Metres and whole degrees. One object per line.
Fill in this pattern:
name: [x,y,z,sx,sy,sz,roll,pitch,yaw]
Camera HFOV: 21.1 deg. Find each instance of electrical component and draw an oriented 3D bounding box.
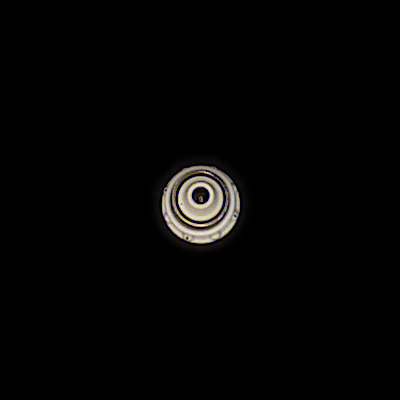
electrical component: [0.000,0.000,0.635,0.048,0.048,0.062,0,-6,0]
